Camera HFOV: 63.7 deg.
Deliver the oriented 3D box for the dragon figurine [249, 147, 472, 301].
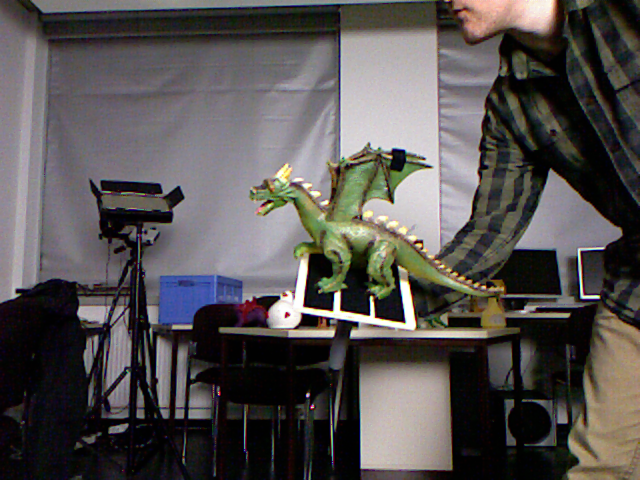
[{"bbox_3d":[0.087,-0.033,0.856,0.411,0.238,0.125,6,33,-8],"label":"dragon figurine"}]
